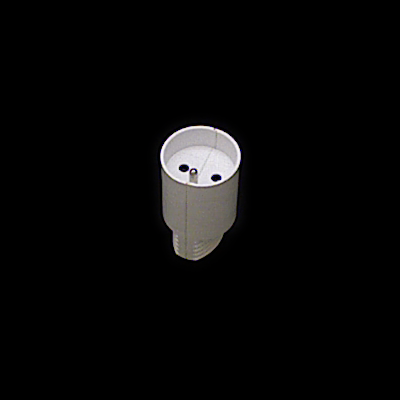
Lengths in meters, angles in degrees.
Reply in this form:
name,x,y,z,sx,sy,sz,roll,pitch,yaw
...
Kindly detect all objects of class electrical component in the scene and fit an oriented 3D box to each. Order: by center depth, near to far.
name,x,y,z,sx,sy,sz,roll,pitch,yaw
electrical component,0.000,0.000,0.617,0.043,0.043,0.081,0,-37,1
